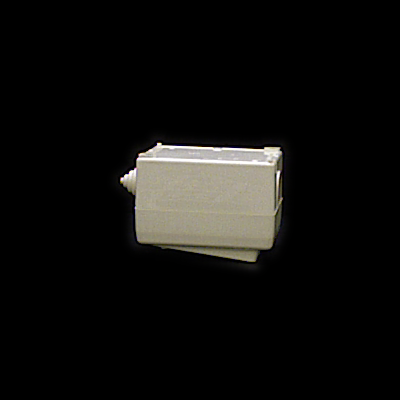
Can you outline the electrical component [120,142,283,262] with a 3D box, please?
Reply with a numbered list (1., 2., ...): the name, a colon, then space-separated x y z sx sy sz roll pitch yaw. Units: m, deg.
1. electrical component: 0.000 0.000 0.643 0.096 0.061 0.061 3 11 7
